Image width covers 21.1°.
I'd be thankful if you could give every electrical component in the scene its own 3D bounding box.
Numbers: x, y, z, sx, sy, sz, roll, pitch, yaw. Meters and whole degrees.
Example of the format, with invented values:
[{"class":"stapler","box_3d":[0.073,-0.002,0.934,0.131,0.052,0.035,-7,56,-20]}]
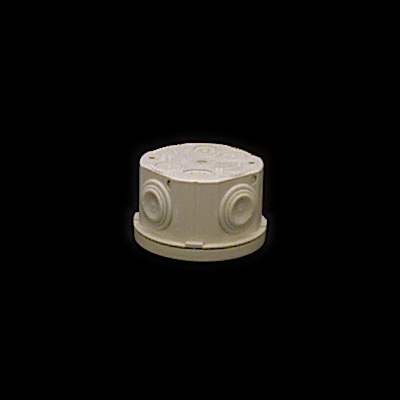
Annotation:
[{"class":"electrical component","box_3d":[0.000,0.000,0.641,0.080,0.051,0.079,2,21,0]}]
